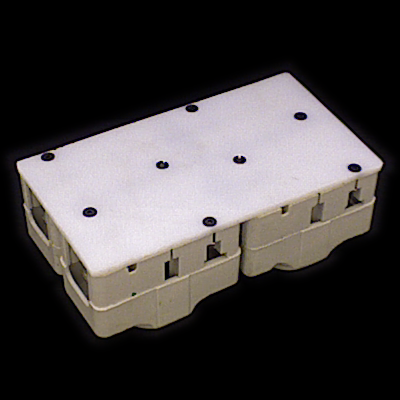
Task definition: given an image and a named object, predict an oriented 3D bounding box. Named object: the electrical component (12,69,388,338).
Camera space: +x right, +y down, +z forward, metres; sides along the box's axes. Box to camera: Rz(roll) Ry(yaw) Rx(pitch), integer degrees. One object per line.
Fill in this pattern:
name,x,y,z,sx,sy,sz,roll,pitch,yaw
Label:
electrical component,0.000,0.000,0.630,0.186,0.061,0.104,-20,46,-22
